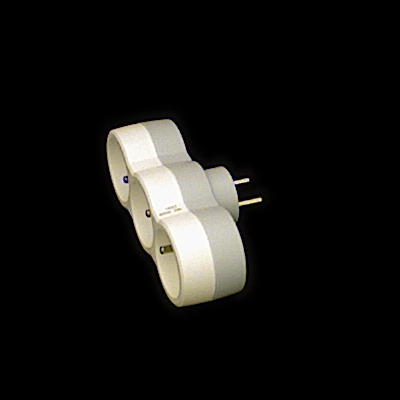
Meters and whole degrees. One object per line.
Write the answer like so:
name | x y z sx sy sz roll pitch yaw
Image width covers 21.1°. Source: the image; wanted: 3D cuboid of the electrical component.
electrical component | 0.000 0.000 0.641 0.074 0.052 0.136 -14 45 -17
